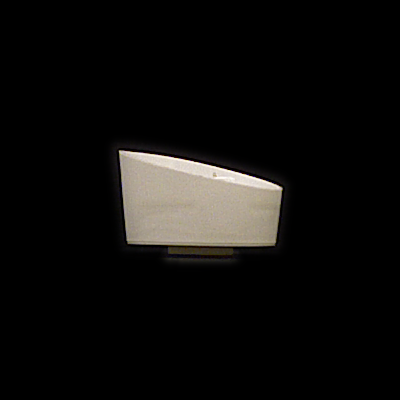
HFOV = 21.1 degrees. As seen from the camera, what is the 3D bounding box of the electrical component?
[{"bbox_3d":[0.000,0.000,0.649,0.099,0.064,0.099,0,0,0],"label":"electrical component"}]
